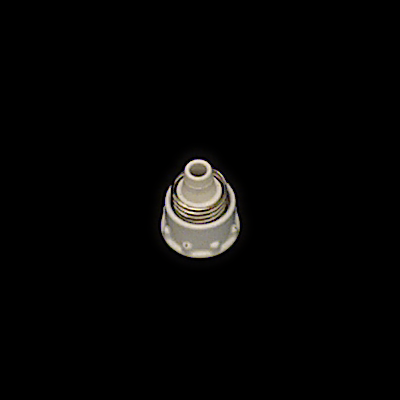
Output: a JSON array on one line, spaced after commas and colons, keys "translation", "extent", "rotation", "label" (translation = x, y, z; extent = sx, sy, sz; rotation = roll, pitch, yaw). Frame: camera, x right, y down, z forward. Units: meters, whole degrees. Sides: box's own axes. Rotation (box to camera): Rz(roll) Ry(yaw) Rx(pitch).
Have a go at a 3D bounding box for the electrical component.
[{"translation": [0.000, 0.000, 0.634], "extent": [0.048, 0.048, 0.062], "rotation": [0, -37, 1], "label": "electrical component"}]
